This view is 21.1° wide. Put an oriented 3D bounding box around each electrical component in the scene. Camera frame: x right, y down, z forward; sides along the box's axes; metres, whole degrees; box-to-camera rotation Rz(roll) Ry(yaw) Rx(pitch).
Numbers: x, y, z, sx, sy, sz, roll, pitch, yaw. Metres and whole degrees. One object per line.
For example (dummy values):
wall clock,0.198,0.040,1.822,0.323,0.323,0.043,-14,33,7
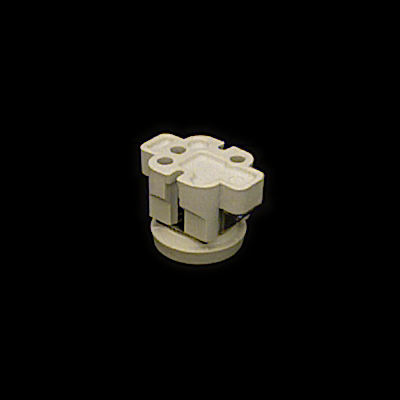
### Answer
electrical component,0.000,0.000,0.642,0.077,0.057,0.058,24,38,30
